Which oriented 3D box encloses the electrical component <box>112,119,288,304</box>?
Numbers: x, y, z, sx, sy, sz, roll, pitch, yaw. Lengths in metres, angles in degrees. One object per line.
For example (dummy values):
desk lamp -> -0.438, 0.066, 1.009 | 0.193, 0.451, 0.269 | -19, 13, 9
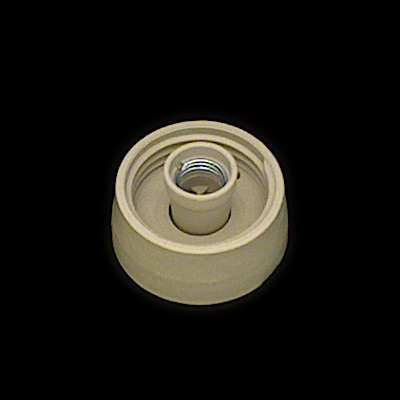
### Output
electrical component -> 0.000, 0.000, 0.635 | 0.108, 0.107, 0.060 | 0, -37, -1
